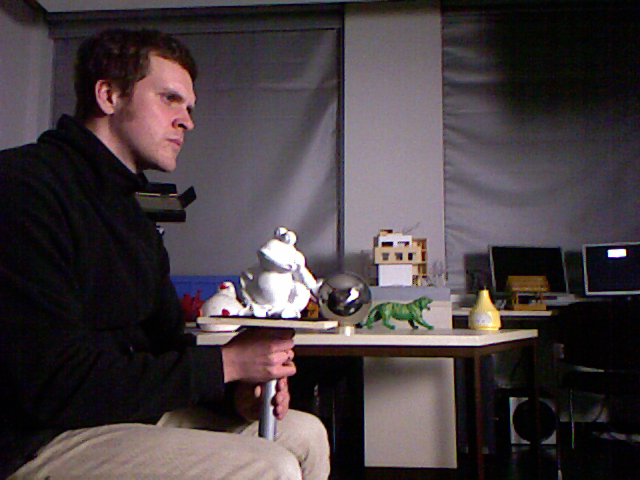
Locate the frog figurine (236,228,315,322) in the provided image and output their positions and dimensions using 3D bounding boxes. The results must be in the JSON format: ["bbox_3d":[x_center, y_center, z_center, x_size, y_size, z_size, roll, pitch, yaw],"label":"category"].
[{"bbox_3d":[-0.078,0.059,0.891,0.137,0.160,0.122,2,-4,27],"label":"frog figurine"}]
